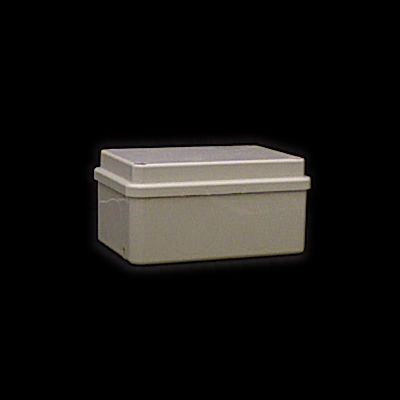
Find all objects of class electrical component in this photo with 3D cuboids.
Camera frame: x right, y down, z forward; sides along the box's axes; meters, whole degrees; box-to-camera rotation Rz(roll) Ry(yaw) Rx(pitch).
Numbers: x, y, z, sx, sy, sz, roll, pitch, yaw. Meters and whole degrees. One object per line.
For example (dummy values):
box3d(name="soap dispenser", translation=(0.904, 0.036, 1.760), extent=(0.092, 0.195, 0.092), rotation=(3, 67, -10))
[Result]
box3d(name="electrical component", translation=(0.000, 0.000, 0.646), extent=(0.113, 0.057, 0.077), rotation=(-3, 11, -22))
